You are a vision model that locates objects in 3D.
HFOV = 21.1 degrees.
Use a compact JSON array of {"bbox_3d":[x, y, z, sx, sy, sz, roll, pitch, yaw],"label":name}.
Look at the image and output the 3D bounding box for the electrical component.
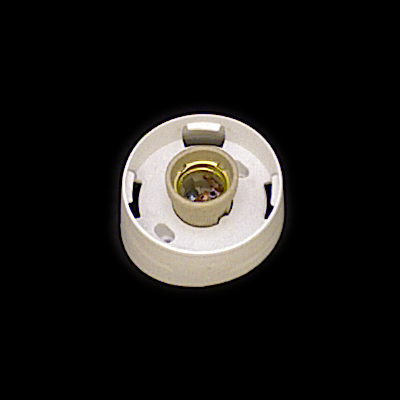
[{"bbox_3d":[0.000,0.000,0.625,0.099,0.099,0.064,0,-27,0],"label":"electrical component"}]
